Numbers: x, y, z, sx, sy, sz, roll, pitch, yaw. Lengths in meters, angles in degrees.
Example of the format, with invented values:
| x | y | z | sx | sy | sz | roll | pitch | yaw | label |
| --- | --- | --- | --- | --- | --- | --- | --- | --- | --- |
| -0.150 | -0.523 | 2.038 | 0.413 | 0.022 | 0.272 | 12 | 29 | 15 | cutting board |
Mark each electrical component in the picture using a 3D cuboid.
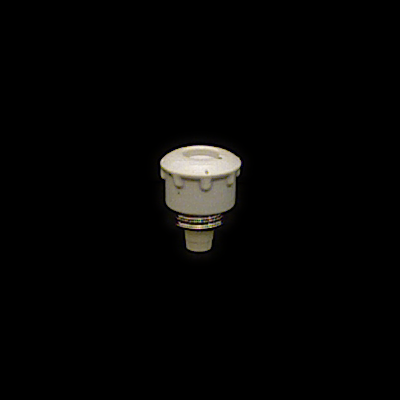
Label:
| x | y | z | sx | sy | sz | roll | pitch | yaw | label |
| --- | --- | --- | --- | --- | --- | --- | --- | --- | --- |
| 0.000 | 0.000 | 0.648 | 0.048 | 0.063 | 0.047 | 1 | 22 | 0 | electrical component |
